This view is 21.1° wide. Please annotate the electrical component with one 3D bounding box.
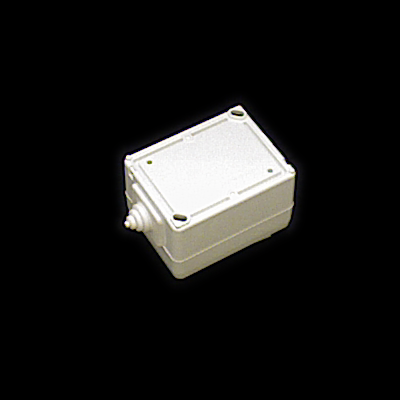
[{"bbox_3d":[0.000,0.000,0.624,0.096,0.061,0.061,-26,-33,-19],"label":"electrical component"}]
